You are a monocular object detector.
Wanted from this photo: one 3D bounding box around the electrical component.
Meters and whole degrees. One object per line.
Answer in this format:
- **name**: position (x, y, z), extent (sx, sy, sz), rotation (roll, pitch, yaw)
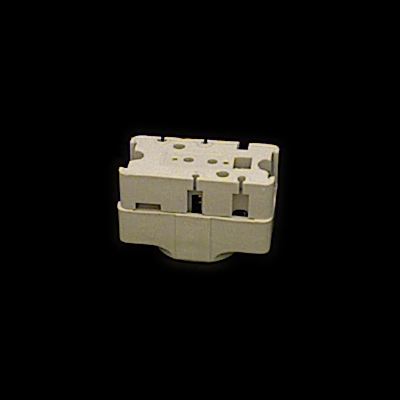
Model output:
- **electrical component**: position (0.000, 0.000, 0.643), extent (0.089, 0.056, 0.049), rotation (5, 32, 5)
